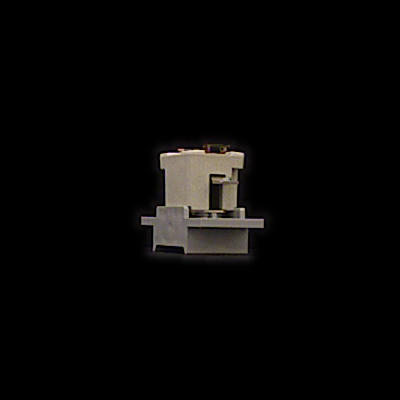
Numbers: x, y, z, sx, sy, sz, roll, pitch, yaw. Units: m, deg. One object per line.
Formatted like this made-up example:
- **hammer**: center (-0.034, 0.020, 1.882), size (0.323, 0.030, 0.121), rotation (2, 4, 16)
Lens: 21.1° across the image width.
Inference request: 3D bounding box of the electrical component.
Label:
- **electrical component**: center (0.000, 0.000, 0.649), size (0.042, 0.064, 0.080), rotation (0, 1, -29)
